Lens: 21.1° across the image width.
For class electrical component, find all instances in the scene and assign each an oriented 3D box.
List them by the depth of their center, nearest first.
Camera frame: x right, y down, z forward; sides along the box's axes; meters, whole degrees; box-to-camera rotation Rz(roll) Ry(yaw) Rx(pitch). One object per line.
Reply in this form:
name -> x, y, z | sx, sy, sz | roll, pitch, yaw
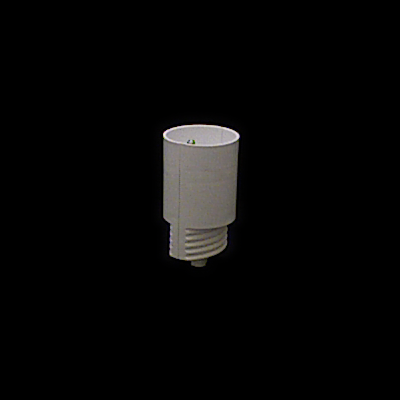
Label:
electrical component -> 0.000, 0.000, 0.632 | 0.043, 0.082, 0.042 | 0, 21, 0
